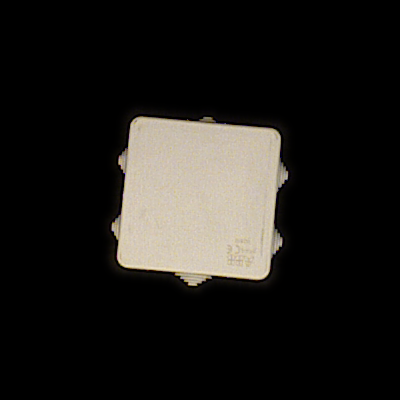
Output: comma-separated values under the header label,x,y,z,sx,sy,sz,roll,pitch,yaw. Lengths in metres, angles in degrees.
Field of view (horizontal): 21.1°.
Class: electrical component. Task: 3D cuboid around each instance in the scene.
label,x,y,z,sx,sy,sz,roll,pitch,yaw
electrical component,0.000,0.000,0.642,0.100,0.100,0.048,5,-6,0
